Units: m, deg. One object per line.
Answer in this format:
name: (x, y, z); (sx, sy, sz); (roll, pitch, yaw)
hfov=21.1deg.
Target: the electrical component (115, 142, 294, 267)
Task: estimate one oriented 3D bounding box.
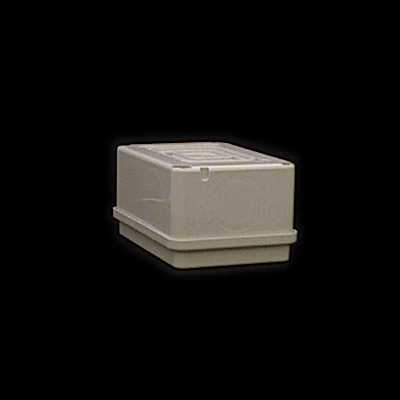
electrical component: (0.000, 0.000, 0.644); (0.078, 0.057, 0.112); (-3, 11, -22)
